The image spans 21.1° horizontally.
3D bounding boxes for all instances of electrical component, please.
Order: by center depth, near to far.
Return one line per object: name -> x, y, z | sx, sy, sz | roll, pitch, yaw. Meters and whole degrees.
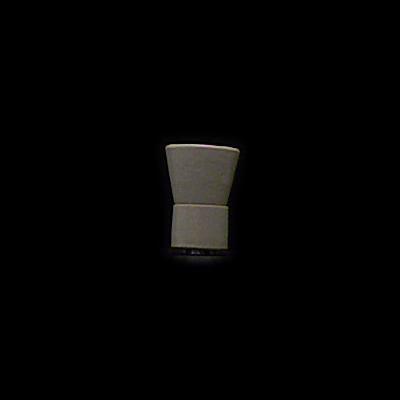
electrical component -> 0.000, 0.000, 0.652 | 0.044, 0.065, 0.044 | 2, 0, 0
